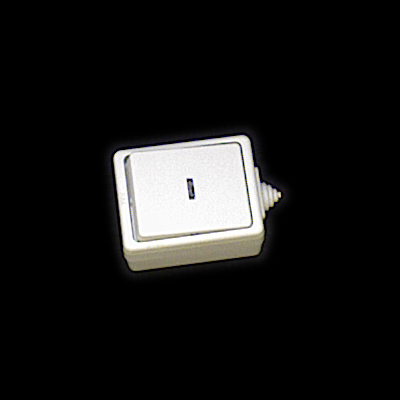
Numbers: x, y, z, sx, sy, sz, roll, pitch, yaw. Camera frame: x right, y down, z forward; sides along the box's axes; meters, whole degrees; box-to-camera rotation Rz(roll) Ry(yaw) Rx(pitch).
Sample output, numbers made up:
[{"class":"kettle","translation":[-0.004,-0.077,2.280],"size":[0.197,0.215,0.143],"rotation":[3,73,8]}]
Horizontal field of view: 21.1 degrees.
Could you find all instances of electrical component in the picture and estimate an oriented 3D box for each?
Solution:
[{"class":"electrical component","translation":[0.000,0.000,0.626],"size":[0.096,0.062,0.060],"rotation":[-7,-17,-3]}]
